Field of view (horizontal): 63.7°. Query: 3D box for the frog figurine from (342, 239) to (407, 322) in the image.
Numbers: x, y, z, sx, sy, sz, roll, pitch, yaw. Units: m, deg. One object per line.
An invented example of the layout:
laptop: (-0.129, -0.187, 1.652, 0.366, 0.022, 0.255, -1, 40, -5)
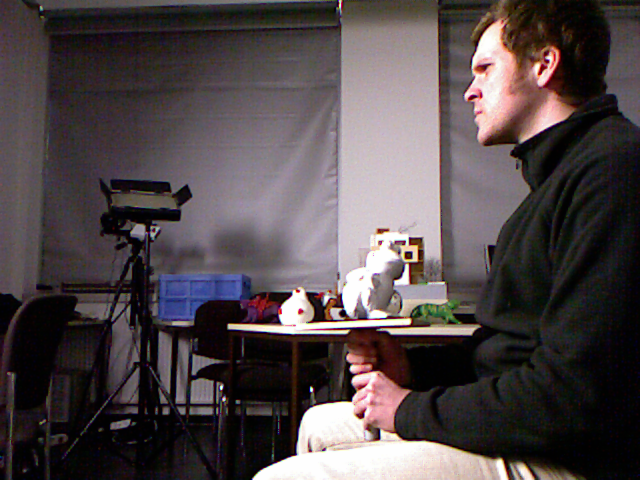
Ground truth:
frog figurine: (0.102, 0.078, 0.968, 0.122, 0.161, 0.137, -10, -15, 40)
